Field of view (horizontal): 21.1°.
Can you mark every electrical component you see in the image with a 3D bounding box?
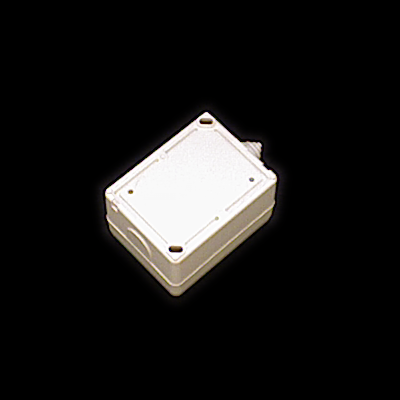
[{"bbox_3d":[0.000,0.000,0.627,0.096,0.062,0.061,-39,-21,-19],"label":"electrical component"}]
